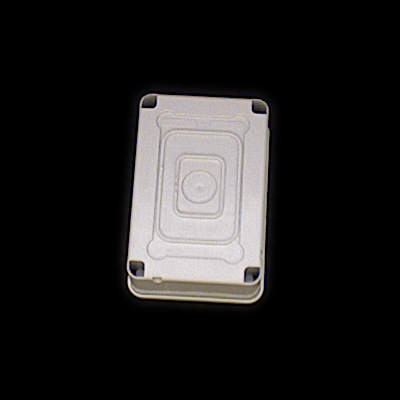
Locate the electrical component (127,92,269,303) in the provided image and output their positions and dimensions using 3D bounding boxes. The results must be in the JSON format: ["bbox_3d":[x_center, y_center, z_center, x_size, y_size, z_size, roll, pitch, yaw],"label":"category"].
[{"bbox_3d":[0.000,0.000,0.627,0.078,0.113,0.057,3,-17,1],"label":"electrical component"}]
